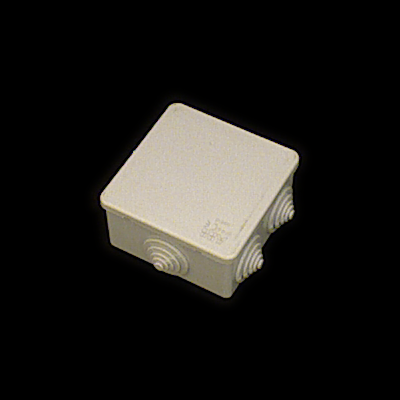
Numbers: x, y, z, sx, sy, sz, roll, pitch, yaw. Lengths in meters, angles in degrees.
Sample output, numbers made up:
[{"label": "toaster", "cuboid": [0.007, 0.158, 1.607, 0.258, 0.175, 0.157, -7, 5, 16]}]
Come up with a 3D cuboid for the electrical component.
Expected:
[{"label": "electrical component", "cuboid": [0.000, 0.000, 0.640, 0.099, 0.100, 0.048, 24, -33, 17]}]
